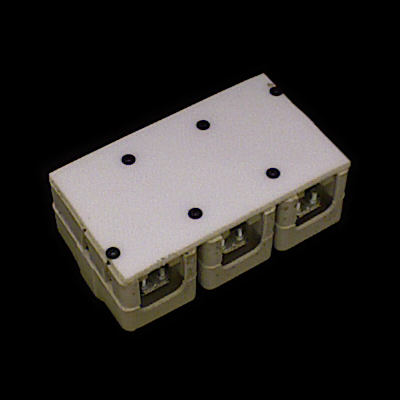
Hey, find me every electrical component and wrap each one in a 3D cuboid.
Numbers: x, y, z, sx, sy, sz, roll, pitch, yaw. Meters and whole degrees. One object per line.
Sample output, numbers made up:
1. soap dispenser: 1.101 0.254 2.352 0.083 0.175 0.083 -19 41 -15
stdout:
1. electrical component: 0.000 0.000 0.631 0.150 0.088 0.062 -27 -33 -19
